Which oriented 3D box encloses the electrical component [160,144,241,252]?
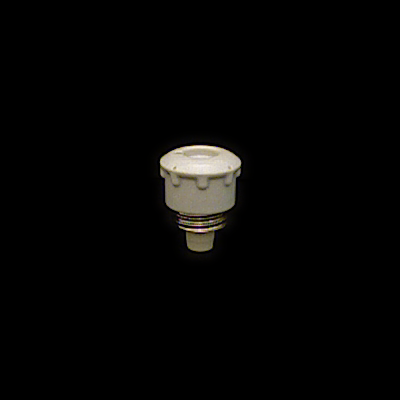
[{"bbox_3d":[0.000,0.000,0.643,0.048,0.062,0.047,1,21,0],"label":"electrical component"}]
